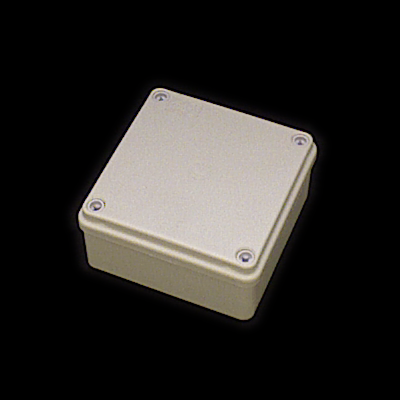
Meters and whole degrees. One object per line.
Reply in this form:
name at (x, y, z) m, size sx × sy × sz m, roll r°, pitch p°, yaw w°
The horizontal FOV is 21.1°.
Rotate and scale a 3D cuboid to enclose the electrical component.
electrical component at (0.000, 0.000, 0.629) m, size 0.108 × 0.108 × 0.056 m, roll 18°, pitch -35°, yaw 13°
